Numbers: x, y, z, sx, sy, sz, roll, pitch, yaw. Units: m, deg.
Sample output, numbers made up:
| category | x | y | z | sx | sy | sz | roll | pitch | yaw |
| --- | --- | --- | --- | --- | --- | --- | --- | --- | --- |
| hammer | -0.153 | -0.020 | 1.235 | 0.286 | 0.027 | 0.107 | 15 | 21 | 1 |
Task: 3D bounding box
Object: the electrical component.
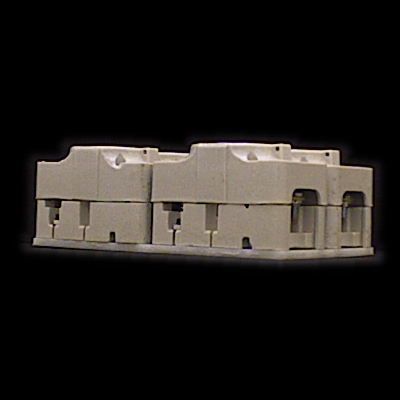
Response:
| category | x | y | z | sx | sy | sz | roll | pitch | yaw |
| --- | --- | --- | --- | --- | --- | --- | --- | --- | --- |
| electrical component | 0.000 | 0.000 | 0.650 | 0.186 | 0.060 | 0.106 | 1 | 0 | 37 |
